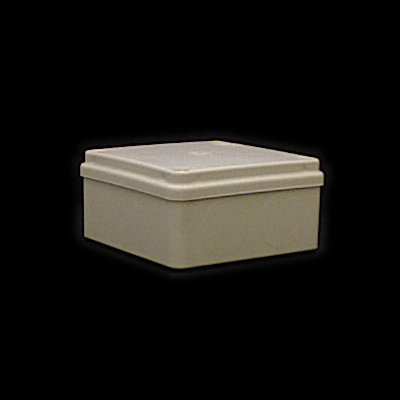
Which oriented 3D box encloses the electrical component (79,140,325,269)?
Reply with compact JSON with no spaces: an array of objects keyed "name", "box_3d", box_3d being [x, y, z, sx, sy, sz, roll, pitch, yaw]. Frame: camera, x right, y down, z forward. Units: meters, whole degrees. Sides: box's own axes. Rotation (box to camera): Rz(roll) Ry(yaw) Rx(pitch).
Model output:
[{"name":"electrical component","box_3d":[0.000,0.000,0.643,0.109,0.056,0.108,-7,13,-35]}]
